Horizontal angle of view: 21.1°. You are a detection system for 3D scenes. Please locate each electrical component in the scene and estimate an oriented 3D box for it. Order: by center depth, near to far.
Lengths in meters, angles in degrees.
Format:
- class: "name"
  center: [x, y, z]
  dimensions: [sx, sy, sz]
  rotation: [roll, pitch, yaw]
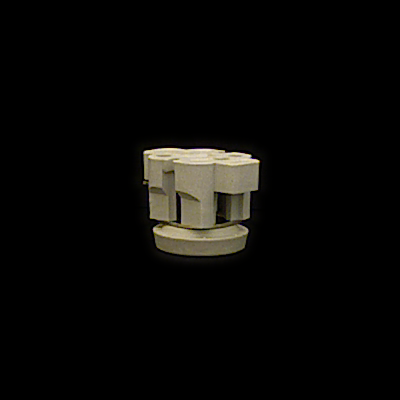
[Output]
- class: "electrical component"
  center: [0.000, 0.000, 0.651]
  dimensions: [0.077, 0.057, 0.058]
  rotation: [9, 15, 41]
